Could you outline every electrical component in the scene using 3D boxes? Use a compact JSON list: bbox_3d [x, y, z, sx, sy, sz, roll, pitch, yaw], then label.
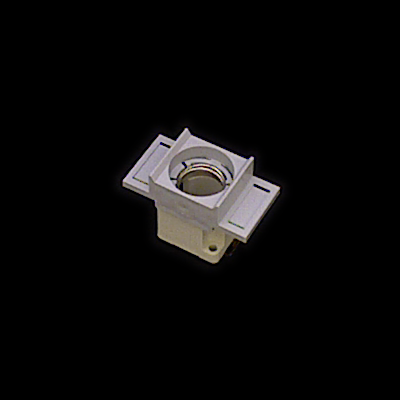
[{"bbox_3d":[0.000,0.000,0.627,0.080,0.042,0.064,25,-33,17],"label":"electrical component"}]
